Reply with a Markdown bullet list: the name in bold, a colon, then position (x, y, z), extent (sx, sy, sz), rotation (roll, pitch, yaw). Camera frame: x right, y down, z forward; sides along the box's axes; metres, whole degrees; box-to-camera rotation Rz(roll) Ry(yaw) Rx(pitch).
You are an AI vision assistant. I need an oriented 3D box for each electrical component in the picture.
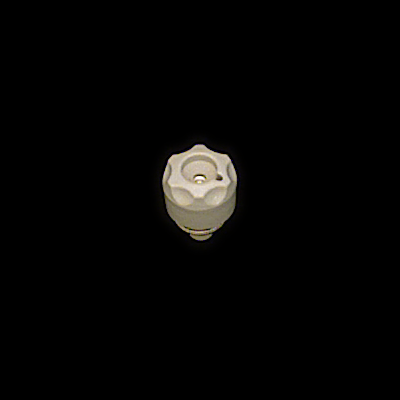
- **electrical component**: position (0.000, 0.000, 0.635), extent (0.043, 0.043, 0.062), rotation (0, -37, 1)
